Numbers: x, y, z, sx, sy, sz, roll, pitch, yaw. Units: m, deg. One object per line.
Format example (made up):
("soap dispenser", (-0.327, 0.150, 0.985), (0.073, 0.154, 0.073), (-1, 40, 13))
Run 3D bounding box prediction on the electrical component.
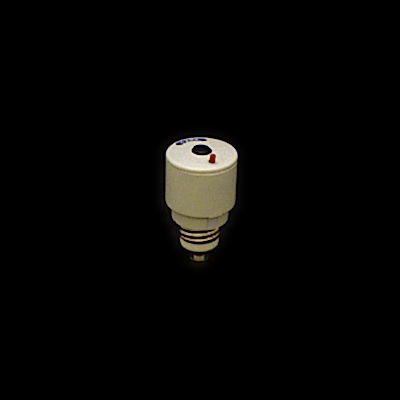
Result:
("electrical component", (0.000, 0.000, 0.627), (0.040, 0.079, 0.039), (1, 31, 0))
